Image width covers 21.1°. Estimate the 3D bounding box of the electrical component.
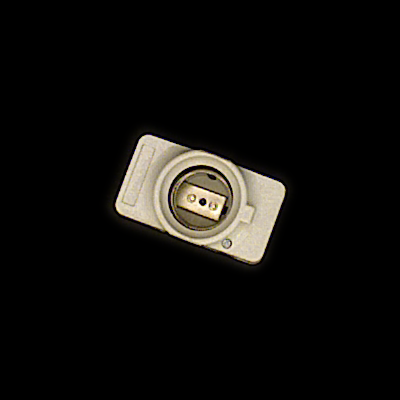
[{"bbox_3d":[0.000,0.000,0.637,0.089,0.050,0.055,20,-5,3],"label":"electrical component"}]
